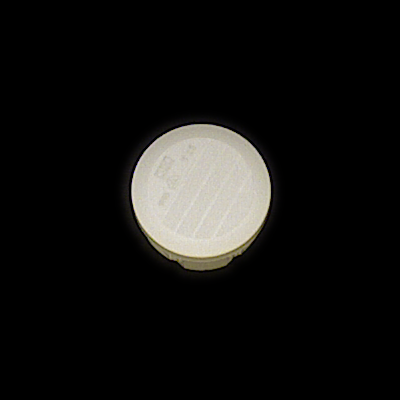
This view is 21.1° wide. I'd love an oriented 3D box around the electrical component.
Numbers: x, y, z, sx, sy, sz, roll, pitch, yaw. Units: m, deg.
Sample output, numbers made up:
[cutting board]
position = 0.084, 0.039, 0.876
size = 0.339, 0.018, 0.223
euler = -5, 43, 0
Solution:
[electrical component]
position = 0.000, 0.000, 0.631
size = 0.080, 0.080, 0.050
euler = 0, -17, 0
